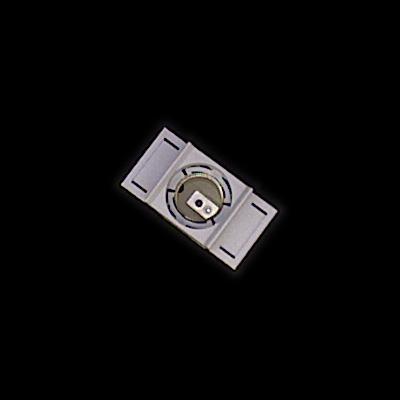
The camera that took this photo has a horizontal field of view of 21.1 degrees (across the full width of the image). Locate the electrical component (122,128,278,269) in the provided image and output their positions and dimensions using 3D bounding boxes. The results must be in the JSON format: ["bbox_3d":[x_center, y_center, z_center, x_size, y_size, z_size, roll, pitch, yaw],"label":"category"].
[{"bbox_3d":[0.000,0.000,0.624,0.081,0.042,0.063,37,-6,4],"label":"electrical component"}]
